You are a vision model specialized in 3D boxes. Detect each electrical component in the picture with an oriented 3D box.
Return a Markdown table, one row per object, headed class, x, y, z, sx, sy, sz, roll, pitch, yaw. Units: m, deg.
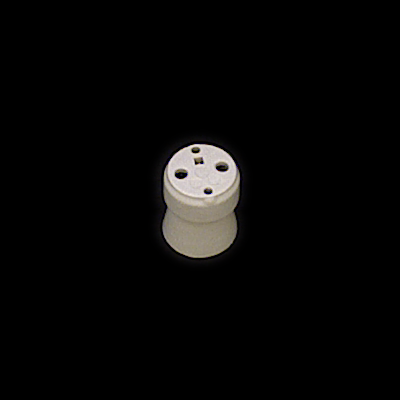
| class | x | y | z | sx | sy | sz | roll | pitch | yaw |
| --- | --- | --- | --- | --- | --- | --- | --- | --- | --- |
| electrical component | 0.000 | 0.000 | 0.630 | 0.045 | 0.044 | 0.055 | 0 | -37 | -1 |
